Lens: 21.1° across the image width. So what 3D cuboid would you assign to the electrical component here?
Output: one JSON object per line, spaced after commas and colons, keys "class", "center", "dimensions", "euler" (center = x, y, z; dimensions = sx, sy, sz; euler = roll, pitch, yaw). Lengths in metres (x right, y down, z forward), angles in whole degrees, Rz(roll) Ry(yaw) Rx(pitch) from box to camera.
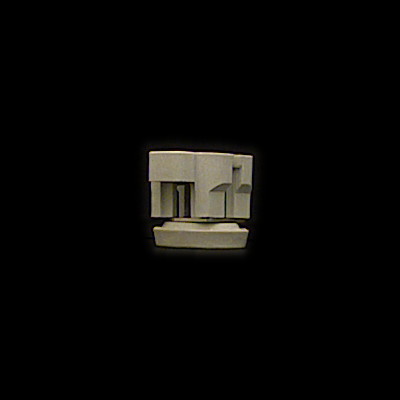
{"class": "electrical component", "center": [0.000, 0.000, 0.659], "dimensions": [0.057, 0.057, 0.079], "euler": [1, -1, 35]}
